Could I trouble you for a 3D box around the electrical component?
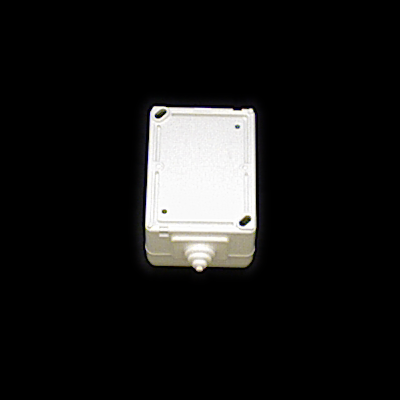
[{"bbox_3d":[0.000,0.000,0.622,0.062,0.097,0.060,1,-28,0],"label":"electrical component"}]
